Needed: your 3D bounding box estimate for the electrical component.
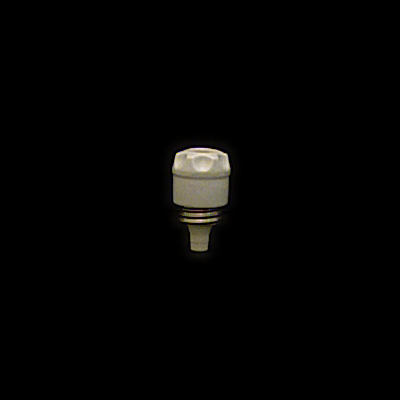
[{"bbox_3d":[0.000,0.000,0.650,0.035,0.062,0.035,1,12,0],"label":"electrical component"}]
